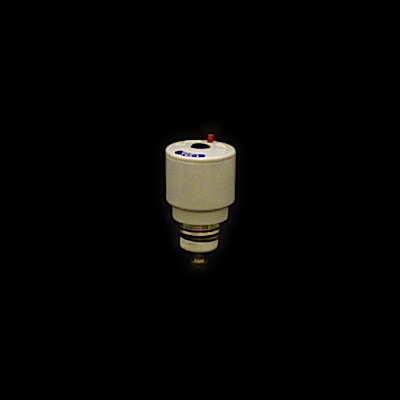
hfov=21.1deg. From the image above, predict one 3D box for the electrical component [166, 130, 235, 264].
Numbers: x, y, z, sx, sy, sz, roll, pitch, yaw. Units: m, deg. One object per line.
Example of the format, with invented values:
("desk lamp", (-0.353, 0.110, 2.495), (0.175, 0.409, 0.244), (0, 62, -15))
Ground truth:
("electrical component", (0.000, 0.000, 0.637), (0.040, 0.079, 0.039), (1, 21, 0))
